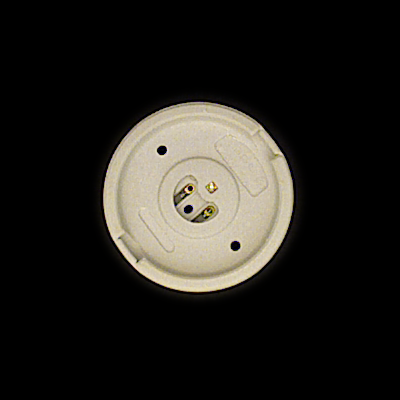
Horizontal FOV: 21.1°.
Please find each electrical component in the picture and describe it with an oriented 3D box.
[{"bbox_3d":[0.000,0.000,0.635,0.108,0.108,0.060,0,-6,0],"label":"electrical component"}]
